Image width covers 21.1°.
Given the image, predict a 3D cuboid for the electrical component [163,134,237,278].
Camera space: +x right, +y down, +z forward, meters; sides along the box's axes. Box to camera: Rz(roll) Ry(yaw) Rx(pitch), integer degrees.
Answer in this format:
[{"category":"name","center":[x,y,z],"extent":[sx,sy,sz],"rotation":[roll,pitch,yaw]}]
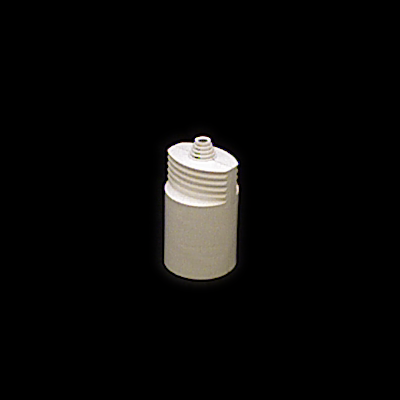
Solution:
[{"category":"electrical component","center":[0.000,0.000,0.628],"extent":[0.043,0.082,0.042],"rotation":[1,31,0]}]
